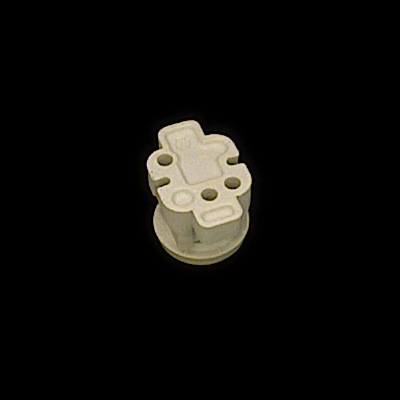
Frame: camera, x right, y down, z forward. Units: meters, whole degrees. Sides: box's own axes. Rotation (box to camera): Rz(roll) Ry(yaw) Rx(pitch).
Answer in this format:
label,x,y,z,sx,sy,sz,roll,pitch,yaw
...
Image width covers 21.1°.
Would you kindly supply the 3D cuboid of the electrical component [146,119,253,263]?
label,x,y,z,sx,sy,sz,roll,pitch,yaw
electrical component,0.000,0.000,0.637,0.058,0.078,0.057,-18,-36,-13
